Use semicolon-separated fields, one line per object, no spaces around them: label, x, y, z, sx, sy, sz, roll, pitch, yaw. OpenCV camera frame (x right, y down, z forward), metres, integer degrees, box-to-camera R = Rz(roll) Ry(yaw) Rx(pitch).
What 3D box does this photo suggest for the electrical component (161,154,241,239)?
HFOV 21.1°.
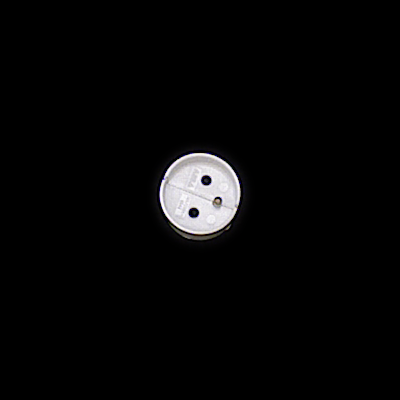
electrical component;0.000;0.000;0.616;0.043;0.043;0.080;0;-6;0
